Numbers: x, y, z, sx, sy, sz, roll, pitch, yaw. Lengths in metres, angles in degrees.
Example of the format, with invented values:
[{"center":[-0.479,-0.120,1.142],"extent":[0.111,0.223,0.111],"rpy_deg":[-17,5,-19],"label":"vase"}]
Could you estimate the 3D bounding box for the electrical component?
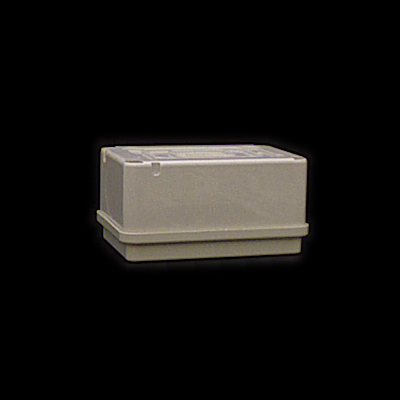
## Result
[{"center":[0.000,0.000,0.644],"extent":[0.113,0.057,0.077],"rpy_deg":[-1,11,-17],"label":"electrical component"}]
